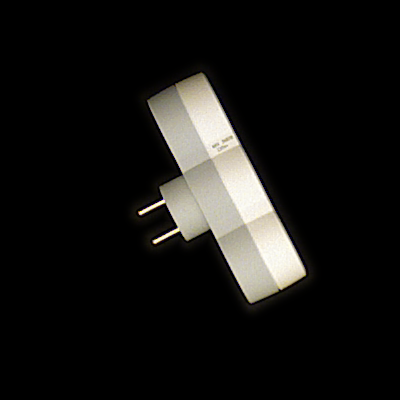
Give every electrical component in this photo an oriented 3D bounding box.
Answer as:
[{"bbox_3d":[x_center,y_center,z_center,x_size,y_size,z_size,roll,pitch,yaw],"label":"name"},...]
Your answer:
[{"bbox_3d":[0.000,0.000,0.639,0.074,0.138,0.052,-27,-5,-1],"label":"electrical component"}]
